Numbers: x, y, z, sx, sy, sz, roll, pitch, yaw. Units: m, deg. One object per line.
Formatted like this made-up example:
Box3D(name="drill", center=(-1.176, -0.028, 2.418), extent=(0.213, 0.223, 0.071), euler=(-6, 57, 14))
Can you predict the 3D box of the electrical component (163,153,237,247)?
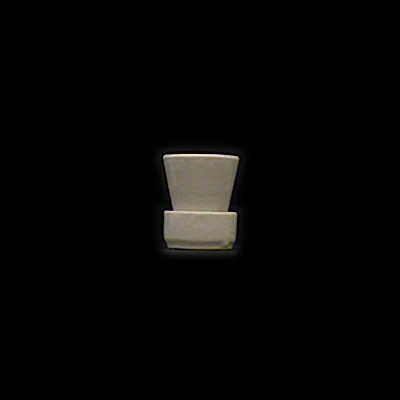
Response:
Box3D(name="electrical component", center=(0.000, 0.000, 0.648), extent=(0.045, 0.055, 0.045), euler=(1, 1, 0))
